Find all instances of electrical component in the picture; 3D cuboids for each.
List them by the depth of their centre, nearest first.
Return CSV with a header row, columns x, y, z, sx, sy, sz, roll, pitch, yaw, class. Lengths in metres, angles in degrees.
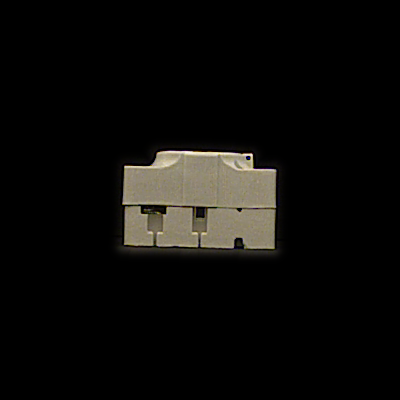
x,y,z,sx,sy,sz,roll,pitch,yaw,class
0.000,0.000,0.656,0.090,0.056,0.050,1,1,-1,electrical component
